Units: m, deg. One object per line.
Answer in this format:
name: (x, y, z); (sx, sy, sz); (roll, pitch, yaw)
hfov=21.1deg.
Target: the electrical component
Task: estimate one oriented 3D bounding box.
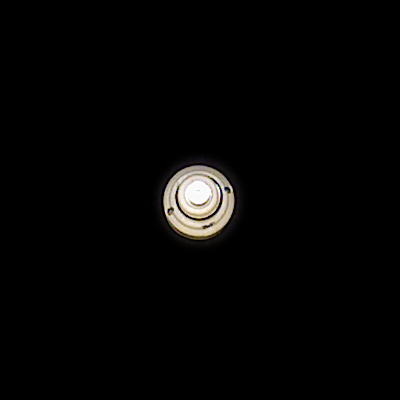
electrical component: (0.000, 0.000, 0.618); (0.040, 0.040, 0.078); (0, -7, -1)
